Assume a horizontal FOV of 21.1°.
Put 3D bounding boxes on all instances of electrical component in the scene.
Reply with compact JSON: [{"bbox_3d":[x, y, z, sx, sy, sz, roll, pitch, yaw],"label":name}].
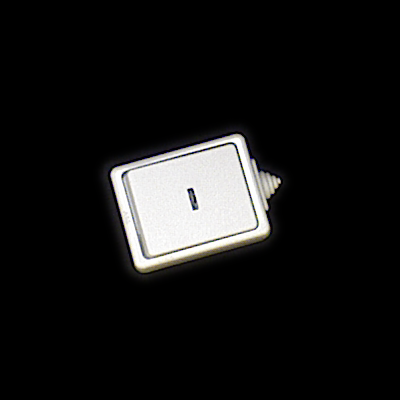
[{"bbox_3d":[0.000,0.000,0.627,0.096,0.062,0.061,-16,-6,-2],"label":"electrical component"}]
